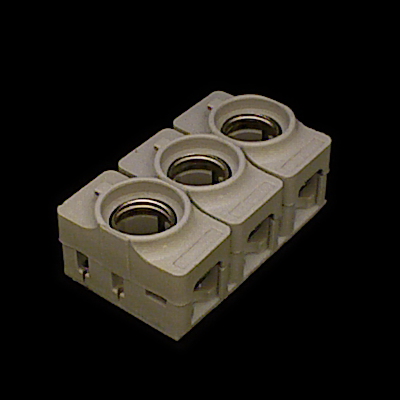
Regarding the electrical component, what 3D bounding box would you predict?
[{"bbox_3d":[0.000,0.000,0.637,0.088,0.063,0.148,27,47,27],"label":"electrical component"}]
